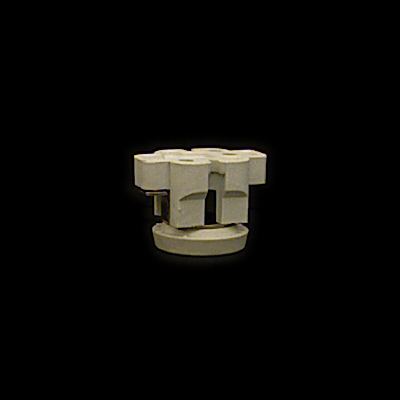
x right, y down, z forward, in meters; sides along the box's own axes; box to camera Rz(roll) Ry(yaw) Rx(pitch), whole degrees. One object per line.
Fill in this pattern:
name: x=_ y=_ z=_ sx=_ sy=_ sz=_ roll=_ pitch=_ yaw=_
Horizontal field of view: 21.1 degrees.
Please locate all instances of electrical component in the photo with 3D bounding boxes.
electrical component: x=0.000 y=0.000 z=0.649 sx=0.079 sy=0.057 sz=0.057 roll=-5 pitch=14 yaw=-22
